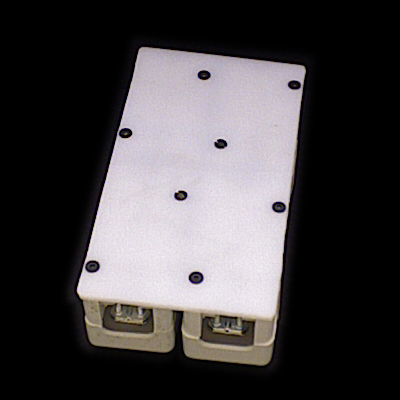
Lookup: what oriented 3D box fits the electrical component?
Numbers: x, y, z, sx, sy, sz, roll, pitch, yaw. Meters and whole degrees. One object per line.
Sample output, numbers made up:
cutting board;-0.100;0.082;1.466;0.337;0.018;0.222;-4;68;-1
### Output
electrical component;0.000;0.000;0.627;0.105;0.185;0.060;7;-38;4
